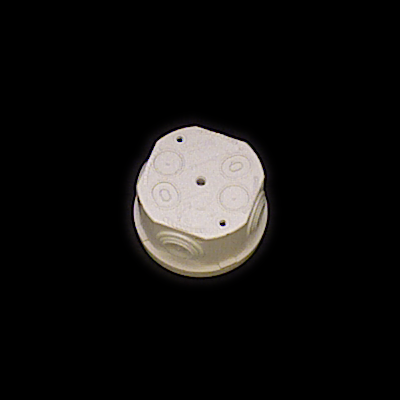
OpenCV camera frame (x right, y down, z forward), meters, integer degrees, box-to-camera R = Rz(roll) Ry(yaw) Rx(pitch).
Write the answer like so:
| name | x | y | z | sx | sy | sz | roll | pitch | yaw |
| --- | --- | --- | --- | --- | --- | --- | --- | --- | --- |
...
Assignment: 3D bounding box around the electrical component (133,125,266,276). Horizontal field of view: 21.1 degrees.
| name | x | y | z | sx | sy | sz | roll | pitch | yaw |
| --- | --- | --- | --- | --- | --- | --- | --- | --- | --- |
| electrical component | 0.000 | 0.000 | 0.631 | 0.080 | 0.080 | 0.050 | 0 | -27 | -1 |
